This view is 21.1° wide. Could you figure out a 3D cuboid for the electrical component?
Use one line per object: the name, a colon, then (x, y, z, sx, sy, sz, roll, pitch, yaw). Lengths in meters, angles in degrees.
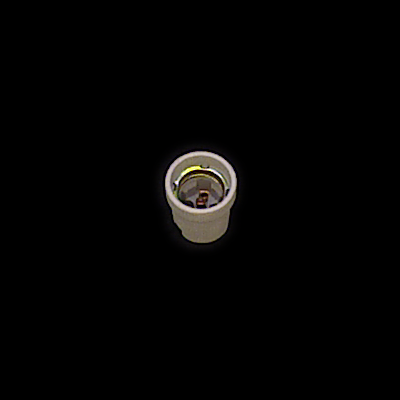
electrical component: (0.000, 0.000, 0.628, 0.040, 0.040, 0.046, 0, -27, 0)
